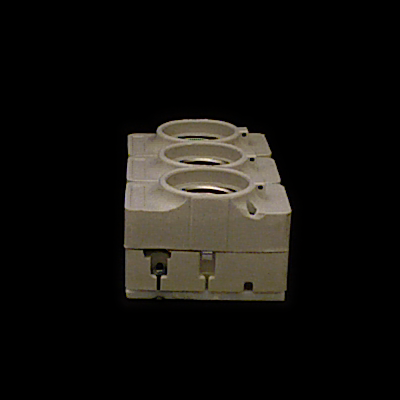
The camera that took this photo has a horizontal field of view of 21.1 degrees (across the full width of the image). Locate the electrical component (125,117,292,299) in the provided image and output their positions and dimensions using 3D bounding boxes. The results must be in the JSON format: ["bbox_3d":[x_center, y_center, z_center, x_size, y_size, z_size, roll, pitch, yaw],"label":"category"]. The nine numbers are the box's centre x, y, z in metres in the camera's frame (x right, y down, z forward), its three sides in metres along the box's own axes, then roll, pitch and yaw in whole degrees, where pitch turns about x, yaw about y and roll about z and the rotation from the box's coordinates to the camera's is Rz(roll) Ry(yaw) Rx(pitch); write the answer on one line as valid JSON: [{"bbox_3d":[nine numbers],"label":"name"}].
[{"bbox_3d":[0.000,0.000,0.646,0.089,0.063,0.147,0,21,-3],"label":"electrical component"}]
